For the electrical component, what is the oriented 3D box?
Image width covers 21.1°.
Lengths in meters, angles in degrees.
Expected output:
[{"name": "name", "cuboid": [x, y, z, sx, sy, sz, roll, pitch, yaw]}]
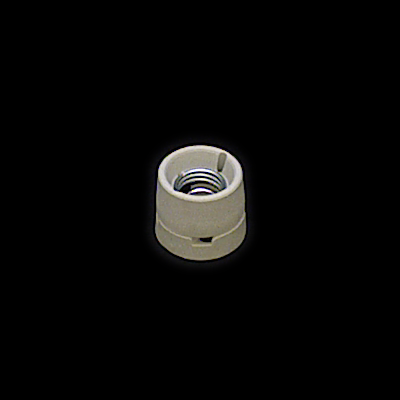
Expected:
[{"name": "electrical component", "cuboid": [0.000, 0.000, 0.635, 0.055, 0.047, 0.055, 0, 43, 0]}]
